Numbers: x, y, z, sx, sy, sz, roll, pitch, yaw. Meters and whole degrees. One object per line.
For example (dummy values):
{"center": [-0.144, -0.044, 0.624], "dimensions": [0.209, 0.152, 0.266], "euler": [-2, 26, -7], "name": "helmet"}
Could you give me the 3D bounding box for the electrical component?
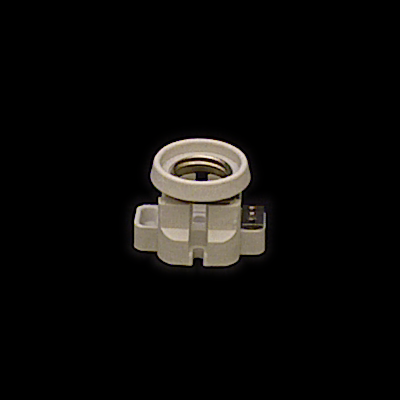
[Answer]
{"center": [0.000, 0.000, 0.636], "dimensions": [0.078, 0.057, 0.057], "euler": [2, 31, 2], "name": "electrical component"}
